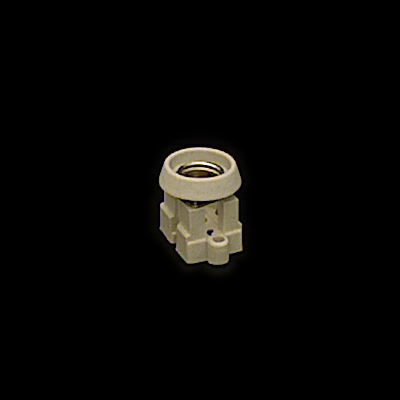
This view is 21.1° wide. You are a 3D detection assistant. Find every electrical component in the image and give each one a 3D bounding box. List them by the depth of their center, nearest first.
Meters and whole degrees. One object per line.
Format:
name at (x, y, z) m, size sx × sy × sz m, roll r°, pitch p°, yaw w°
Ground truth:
electrical component at (0.000, 0.000, 0.643) m, size 0.049 × 0.056 × 0.065 m, roll -13°, pitch 35°, yaw -24°
